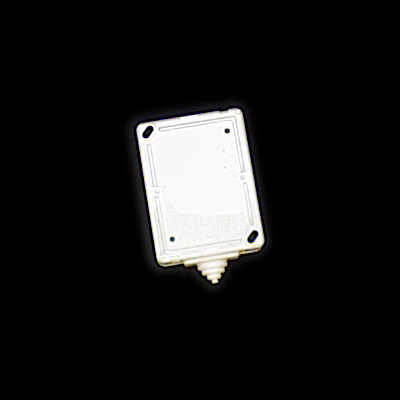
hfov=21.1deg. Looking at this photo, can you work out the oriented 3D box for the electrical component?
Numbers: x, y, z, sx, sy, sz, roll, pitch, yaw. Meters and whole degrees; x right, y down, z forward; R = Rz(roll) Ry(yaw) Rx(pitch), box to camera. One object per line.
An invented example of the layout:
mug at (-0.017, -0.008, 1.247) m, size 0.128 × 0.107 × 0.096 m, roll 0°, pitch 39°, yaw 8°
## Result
electrical component at (0.000, 0.000, 0.625) m, size 0.062 × 0.096 × 0.060 m, roll -9°, pitch -7°, yaw -1°
